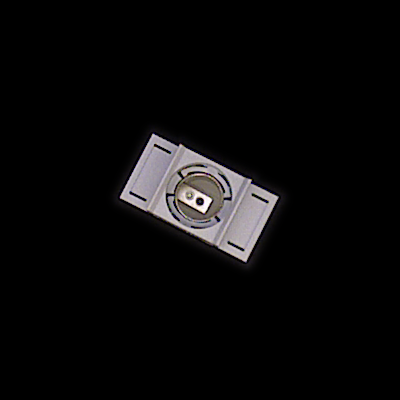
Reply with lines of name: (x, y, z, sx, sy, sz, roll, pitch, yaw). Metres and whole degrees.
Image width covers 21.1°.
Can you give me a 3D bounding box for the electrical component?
electrical component: (0.000, 0.000, 0.625, 0.081, 0.042, 0.063, 27, -4, 2)
